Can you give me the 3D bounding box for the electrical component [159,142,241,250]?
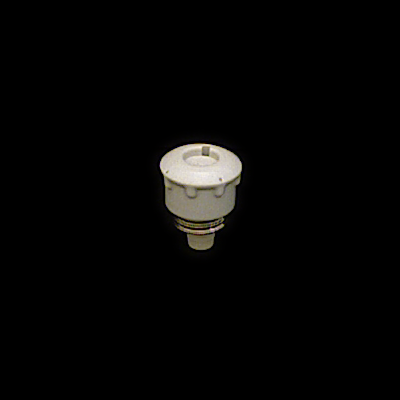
[{"bbox_3d":[0.000,0.000,0.642,0.048,0.063,0.047,1,32,0],"label":"electrical component"}]
